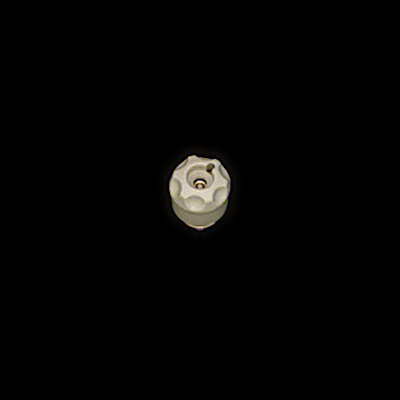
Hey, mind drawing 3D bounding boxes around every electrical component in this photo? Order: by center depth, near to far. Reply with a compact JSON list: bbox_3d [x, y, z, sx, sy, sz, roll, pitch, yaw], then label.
[{"bbox_3d":[0.000,0.000,0.634,0.035,0.035,0.061,0,-27,0],"label":"electrical component"}]
